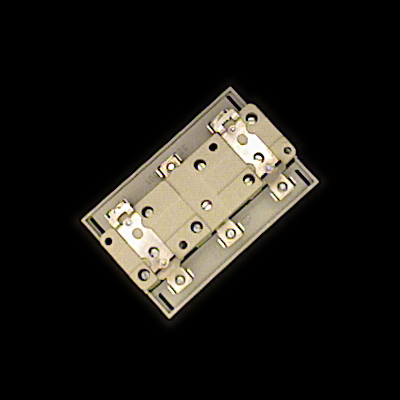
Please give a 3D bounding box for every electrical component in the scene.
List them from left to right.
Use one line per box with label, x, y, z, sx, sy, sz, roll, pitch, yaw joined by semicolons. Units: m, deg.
electrical component;0.000;0.000;0.635;0.122;0.079;0.063;-42;-5;-4
